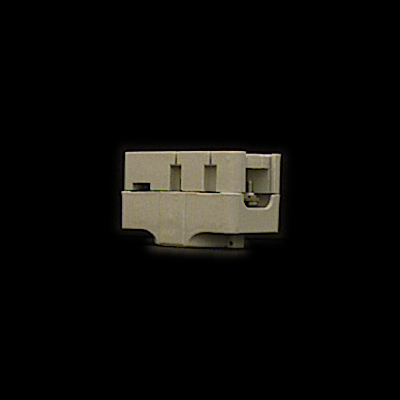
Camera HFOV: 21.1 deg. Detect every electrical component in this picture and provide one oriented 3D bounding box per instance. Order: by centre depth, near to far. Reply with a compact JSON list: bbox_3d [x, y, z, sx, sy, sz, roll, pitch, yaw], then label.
[{"bbox_3d":[0.000,0.000,0.657,0.089,0.056,0.050,3,2,39],"label":"electrical component"}]
